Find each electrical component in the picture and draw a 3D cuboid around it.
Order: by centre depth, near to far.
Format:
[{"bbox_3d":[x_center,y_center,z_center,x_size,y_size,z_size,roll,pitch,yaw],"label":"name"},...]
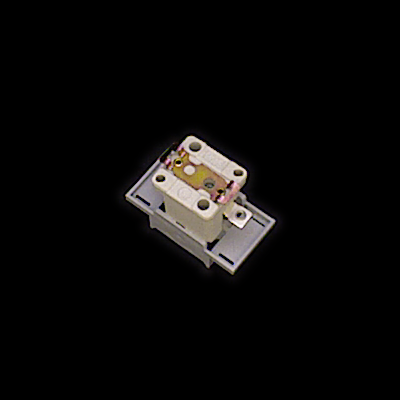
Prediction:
[{"bbox_3d":[0.000,0.000,0.625,0.081,0.042,0.063,34,-22,15],"label":"electrical component"}]
